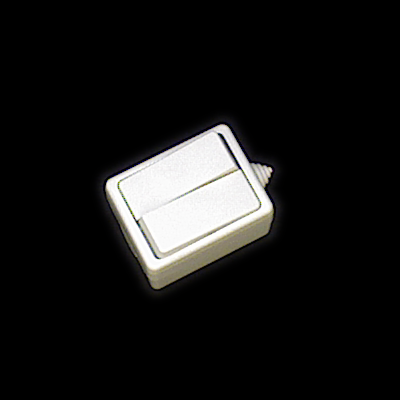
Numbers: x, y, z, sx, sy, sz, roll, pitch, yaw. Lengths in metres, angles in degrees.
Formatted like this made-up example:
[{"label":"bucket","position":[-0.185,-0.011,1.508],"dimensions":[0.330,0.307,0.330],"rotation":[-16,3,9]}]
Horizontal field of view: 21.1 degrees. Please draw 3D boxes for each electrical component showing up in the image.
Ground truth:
[{"label":"electrical component","position":[0.000,0.000,0.626],"dimensions":[0.096,0.062,0.060],"rotation":[-26,-15,-8]}]
